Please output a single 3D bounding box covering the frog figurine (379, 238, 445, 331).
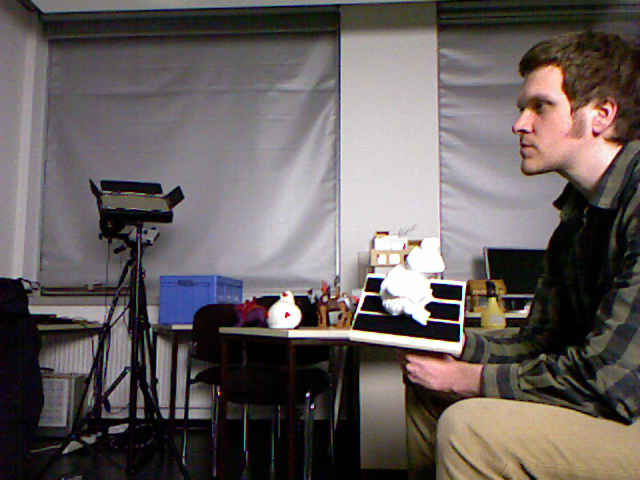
[{"bbox_3d":[0.173,0.070,0.982,0.123,0.156,0.140,17,38,30],"label":"frog figurine"}]
